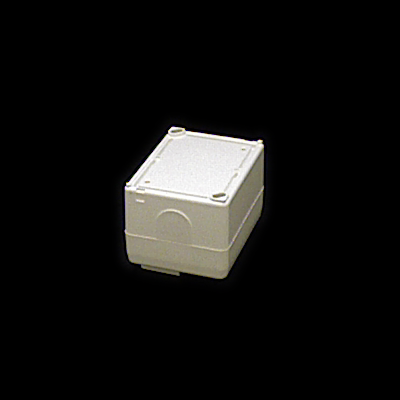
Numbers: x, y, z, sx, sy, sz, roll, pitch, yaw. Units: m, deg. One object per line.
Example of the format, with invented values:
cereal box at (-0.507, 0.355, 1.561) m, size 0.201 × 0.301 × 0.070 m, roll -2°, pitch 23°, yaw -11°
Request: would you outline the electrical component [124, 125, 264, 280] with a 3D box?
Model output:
electrical component at (0.000, 0.000, 0.641) m, size 0.061 × 0.062 × 0.095 m, roll 10°, pitch 32°, yaw 15°
